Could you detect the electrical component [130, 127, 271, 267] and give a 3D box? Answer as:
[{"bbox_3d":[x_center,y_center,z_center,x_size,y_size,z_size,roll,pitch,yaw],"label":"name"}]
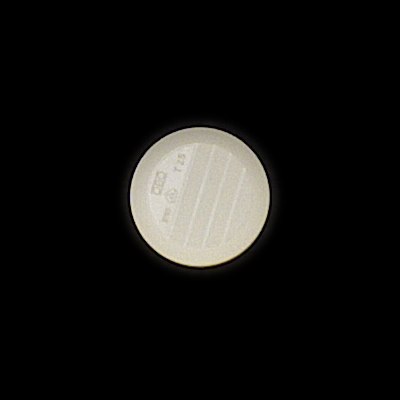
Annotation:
[{"bbox_3d":[0.000,0.000,0.631,0.080,0.080,0.050,0,-7,0],"label":"electrical component"}]
